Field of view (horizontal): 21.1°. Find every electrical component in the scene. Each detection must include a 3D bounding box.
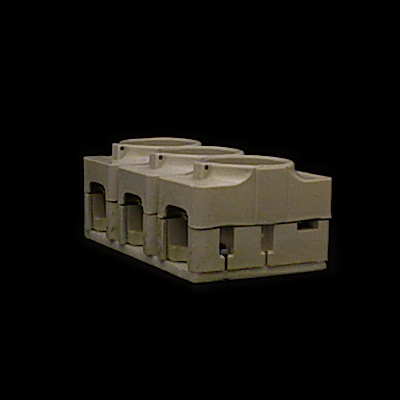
[{"bbox_3d":[0.000,0.000,0.649,0.089,0.062,0.148,-5,11,-30],"label":"electrical component"}]
